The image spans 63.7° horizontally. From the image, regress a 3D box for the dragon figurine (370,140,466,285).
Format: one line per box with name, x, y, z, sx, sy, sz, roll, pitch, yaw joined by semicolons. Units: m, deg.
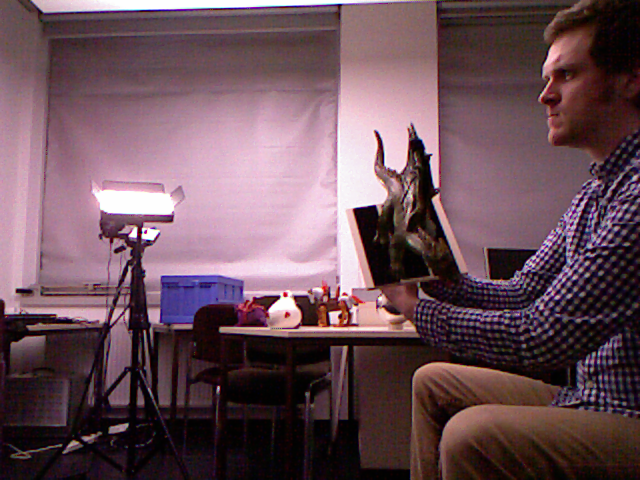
dragon figurine;0.166;-0.086;0.964;0.123;0.420;0.238;-10;-31;-12
